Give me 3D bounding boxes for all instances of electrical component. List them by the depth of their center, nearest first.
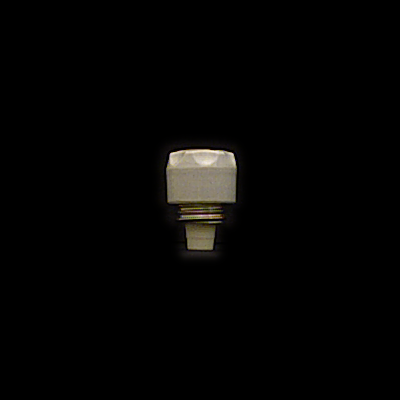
[{"bbox_3d":[0.000,0.000,0.657,0.043,0.062,0.043,1,1,1],"label":"electrical component"}]
